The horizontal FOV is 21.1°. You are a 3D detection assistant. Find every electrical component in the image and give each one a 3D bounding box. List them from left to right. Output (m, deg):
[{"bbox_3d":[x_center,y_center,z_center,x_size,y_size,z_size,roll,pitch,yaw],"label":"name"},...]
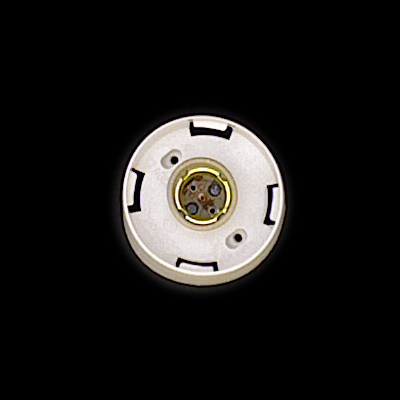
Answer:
[{"bbox_3d":[0.000,0.000,0.625,0.099,0.099,0.064,0,-6,1],"label":"electrical component"}]
